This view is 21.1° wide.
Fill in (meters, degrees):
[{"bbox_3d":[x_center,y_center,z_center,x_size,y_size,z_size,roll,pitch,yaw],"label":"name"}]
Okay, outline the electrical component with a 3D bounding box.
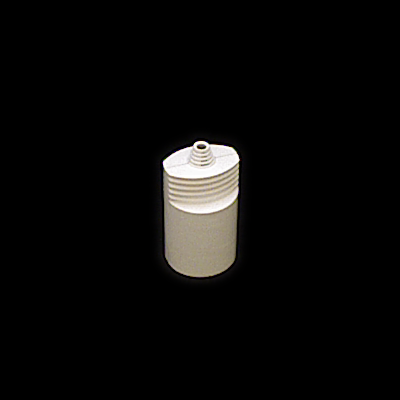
[{"bbox_3d":[0.000,0.000,0.624,0.043,0.082,0.042,1,42,0],"label":"electrical component"}]
